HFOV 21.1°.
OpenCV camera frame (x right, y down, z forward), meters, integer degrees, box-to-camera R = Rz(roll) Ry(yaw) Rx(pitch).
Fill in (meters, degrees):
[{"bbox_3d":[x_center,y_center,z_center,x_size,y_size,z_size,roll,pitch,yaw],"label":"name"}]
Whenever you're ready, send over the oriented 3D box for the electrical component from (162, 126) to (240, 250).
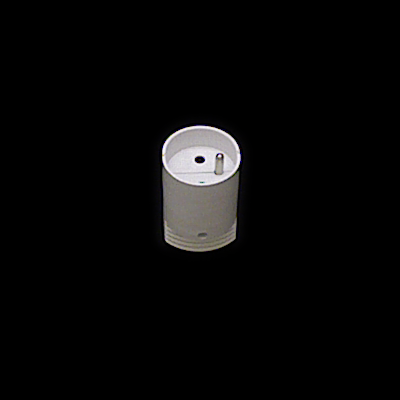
[{"bbox_3d":[0.000,0.000,0.620,0.043,0.043,0.081,0,-37,-1],"label":"electrical component"}]
